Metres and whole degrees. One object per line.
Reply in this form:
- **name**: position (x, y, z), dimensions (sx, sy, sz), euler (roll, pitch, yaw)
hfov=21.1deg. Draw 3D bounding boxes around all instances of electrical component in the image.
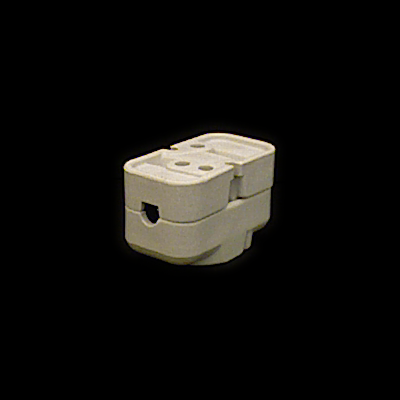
- **electrical component**: position (0.000, 0.000, 0.646), dimensions (0.053, 0.060, 0.095), euler (17, 26, 34)
